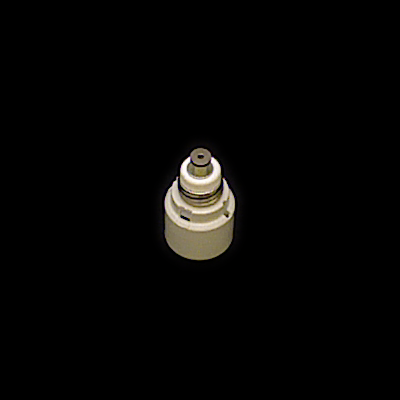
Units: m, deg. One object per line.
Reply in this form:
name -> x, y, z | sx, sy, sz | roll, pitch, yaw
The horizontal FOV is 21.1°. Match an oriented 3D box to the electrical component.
electrical component -> 0.000, 0.000, 0.621 | 0.040, 0.040, 0.079 | 0, -38, -2
